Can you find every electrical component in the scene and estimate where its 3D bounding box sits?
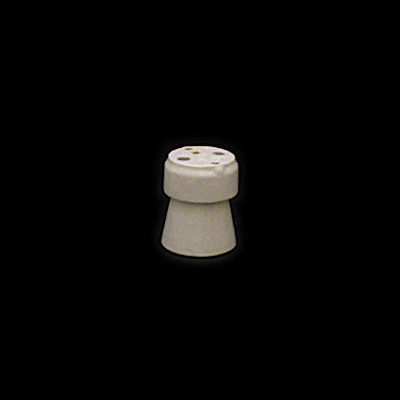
[{"bbox_3d":[0.000,0.000,0.641,0.045,0.056,0.044,1,22,0],"label":"electrical component"}]
